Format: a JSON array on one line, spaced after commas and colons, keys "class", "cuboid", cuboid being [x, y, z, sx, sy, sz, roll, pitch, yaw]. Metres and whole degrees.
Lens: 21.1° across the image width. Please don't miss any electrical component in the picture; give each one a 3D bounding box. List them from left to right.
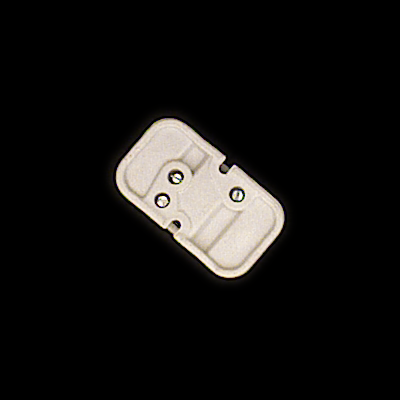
[{"class": "electrical component", "cuboid": [0.000, 0.000, 0.636, 0.095, 0.054, 0.059, 40, -4, 4]}]
